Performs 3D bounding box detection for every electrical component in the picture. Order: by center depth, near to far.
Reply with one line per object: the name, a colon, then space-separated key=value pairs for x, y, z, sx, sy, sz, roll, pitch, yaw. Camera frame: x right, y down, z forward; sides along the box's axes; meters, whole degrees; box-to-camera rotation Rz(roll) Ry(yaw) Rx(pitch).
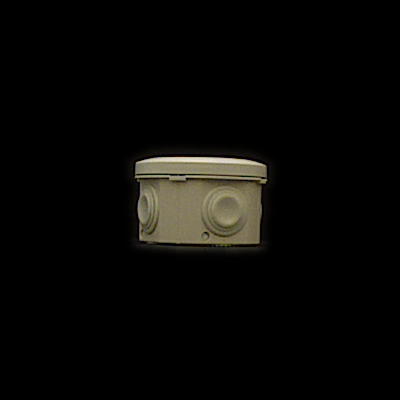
electrical component: x=0.000 y=0.000 z=0.652 sx=0.080 sy=0.051 sz=0.080 roll=1 pitch=0 yaw=0
